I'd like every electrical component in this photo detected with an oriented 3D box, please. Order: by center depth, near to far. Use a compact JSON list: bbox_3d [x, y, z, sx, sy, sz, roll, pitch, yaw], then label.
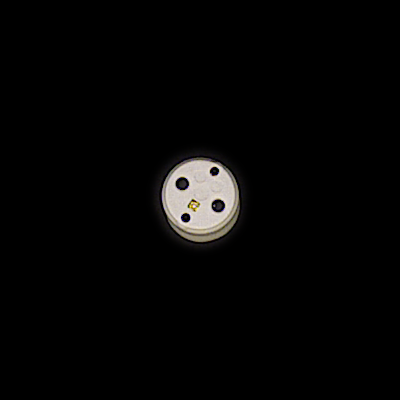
[{"bbox_3d":[0.000,0.000,0.630,0.045,0.045,0.055,0,-7,1],"label":"electrical component"}]
